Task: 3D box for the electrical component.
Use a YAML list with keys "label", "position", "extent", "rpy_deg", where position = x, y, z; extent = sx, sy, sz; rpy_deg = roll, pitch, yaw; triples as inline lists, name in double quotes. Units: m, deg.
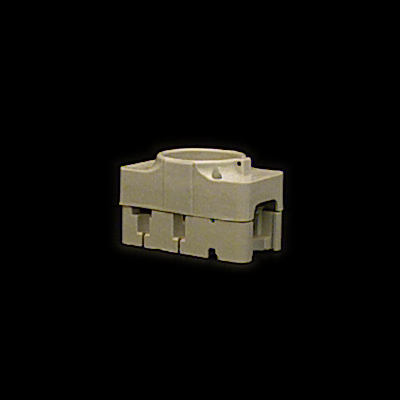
- label: "electrical component"
  position: [0.000, 0.000, 0.651]
  extent: [0.088, 0.056, 0.050]
  rpy_deg: [8, 13, 30]
